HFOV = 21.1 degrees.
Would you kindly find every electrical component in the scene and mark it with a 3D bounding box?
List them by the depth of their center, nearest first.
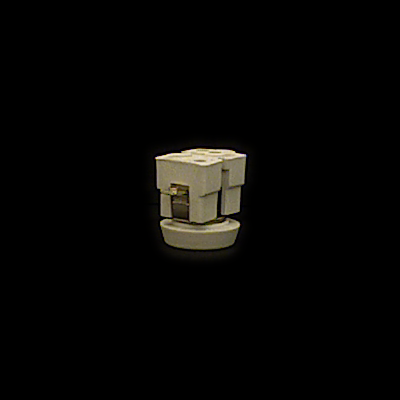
[{"bbox_3d":[0.000,0.000,0.653,0.048,0.056,0.067,11,16,35],"label":"electrical component"}]
